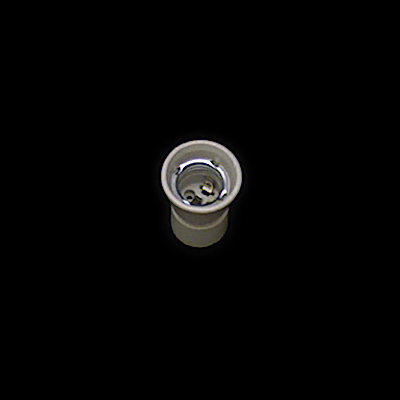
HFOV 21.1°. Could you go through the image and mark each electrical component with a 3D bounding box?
[{"bbox_3d":[0.000,0.000,0.624,0.044,0.044,0.065,0,-27,-1],"label":"electrical component"}]
